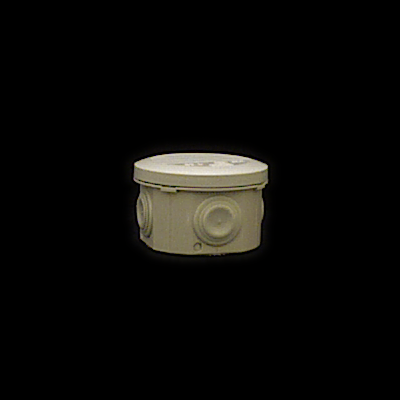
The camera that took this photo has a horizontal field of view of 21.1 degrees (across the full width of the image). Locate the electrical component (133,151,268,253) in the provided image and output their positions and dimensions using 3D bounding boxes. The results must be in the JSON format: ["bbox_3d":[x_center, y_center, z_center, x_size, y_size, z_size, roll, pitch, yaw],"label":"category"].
[{"bbox_3d":[0.000,0.000,0.643,0.080,0.051,0.079,1,10,0],"label":"electrical component"}]
